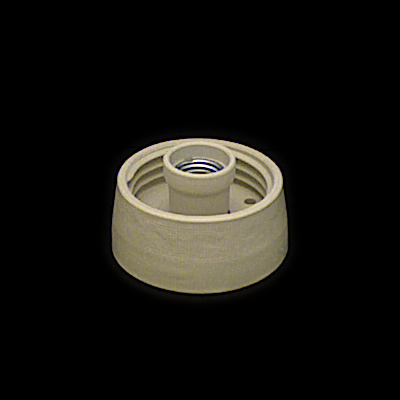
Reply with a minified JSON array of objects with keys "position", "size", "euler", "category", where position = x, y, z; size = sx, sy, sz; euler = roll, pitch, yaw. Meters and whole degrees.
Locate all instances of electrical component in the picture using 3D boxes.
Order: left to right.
[{"position":[0.000,0.000,0.642],"size":[0.108,0.061,0.106],"euler":[1,32,0],"category":"electrical component"}]
